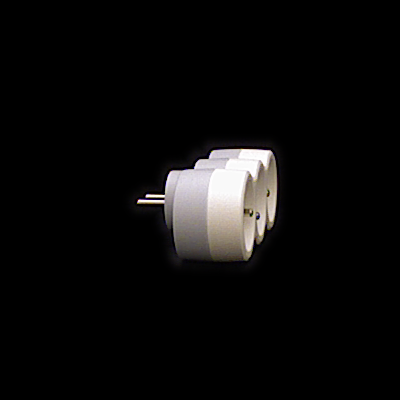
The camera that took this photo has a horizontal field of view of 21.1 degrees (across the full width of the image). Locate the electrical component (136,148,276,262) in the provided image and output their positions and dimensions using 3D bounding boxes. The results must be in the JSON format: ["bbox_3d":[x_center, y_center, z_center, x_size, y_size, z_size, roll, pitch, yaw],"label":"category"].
[{"bbox_3d":[0.000,0.000,0.642,0.073,0.052,0.137,1,11,11],"label":"electrical component"}]
